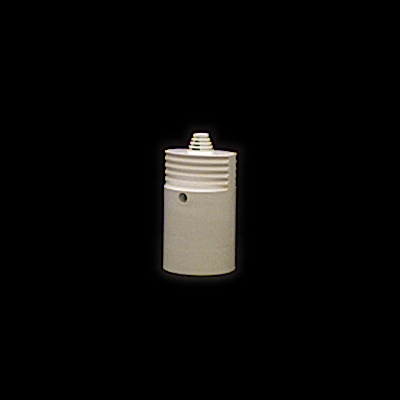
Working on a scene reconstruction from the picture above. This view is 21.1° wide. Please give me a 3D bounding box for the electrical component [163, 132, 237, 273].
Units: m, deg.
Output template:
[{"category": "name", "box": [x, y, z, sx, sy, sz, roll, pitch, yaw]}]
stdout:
[{"category": "electrical component", "box": [0.000, 0.000, 0.643, 0.043, 0.081, 0.043, 1, 11, 0]}]
